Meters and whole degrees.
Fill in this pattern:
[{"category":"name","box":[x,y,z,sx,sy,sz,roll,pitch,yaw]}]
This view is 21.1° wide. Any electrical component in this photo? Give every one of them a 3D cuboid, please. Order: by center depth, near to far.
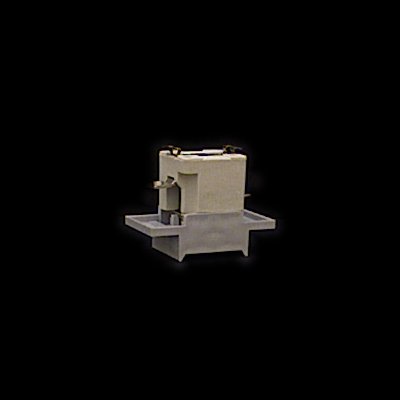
[{"category":"electrical component","box":[0.000,0.000,0.645,0.081,0.064,0.042,-4,12,-25]}]
